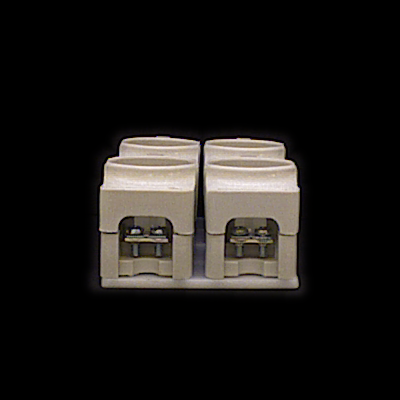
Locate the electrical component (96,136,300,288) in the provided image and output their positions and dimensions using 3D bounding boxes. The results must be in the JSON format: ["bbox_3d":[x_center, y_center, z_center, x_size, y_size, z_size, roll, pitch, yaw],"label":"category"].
[{"bbox_3d":[0.000,0.000,0.644,0.105,0.060,0.185,1,10,0],"label":"electrical component"}]
